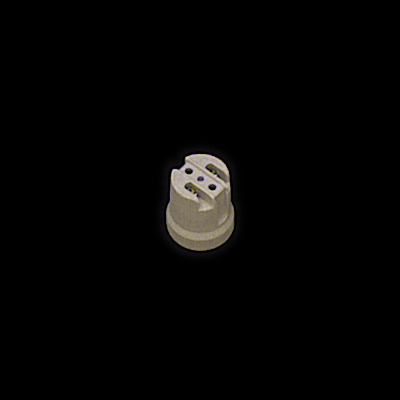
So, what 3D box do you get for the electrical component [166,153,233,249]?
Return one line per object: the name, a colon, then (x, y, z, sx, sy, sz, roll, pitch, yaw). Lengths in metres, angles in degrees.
electrical component: (0.000, 0.000, 0.633, 0.040, 0.040, 0.046, 0, -37, 0)
